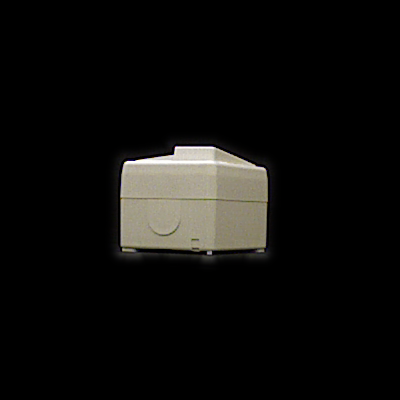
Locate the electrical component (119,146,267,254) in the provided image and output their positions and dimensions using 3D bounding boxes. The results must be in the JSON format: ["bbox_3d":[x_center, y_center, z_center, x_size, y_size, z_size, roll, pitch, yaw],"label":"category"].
[{"bbox_3d":[0.000,0.000,0.653,0.061,0.061,0.096,1,0,27],"label":"electrical component"}]
